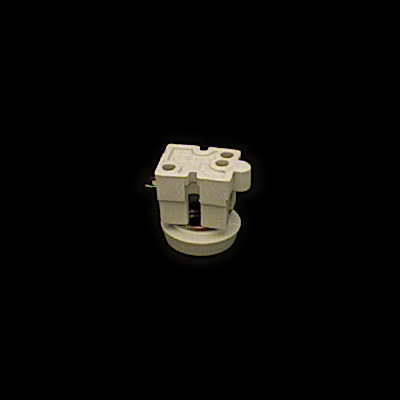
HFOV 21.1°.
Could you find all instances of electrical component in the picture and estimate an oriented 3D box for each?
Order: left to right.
[{"bbox_3d":[0.000,0.000,0.644,0.066,0.056,0.048,6,34,10],"label":"electrical component"}]
